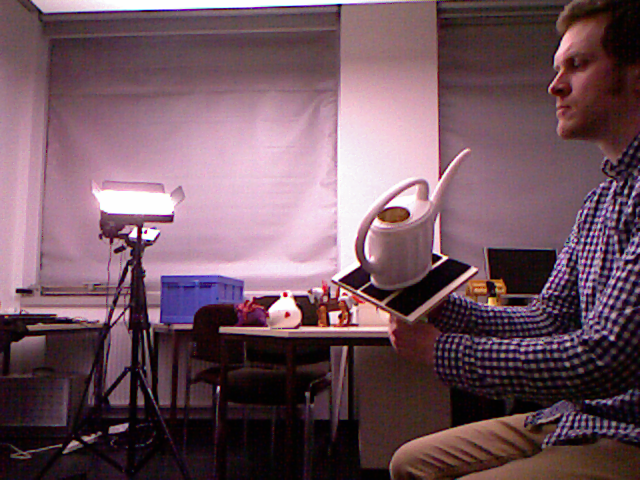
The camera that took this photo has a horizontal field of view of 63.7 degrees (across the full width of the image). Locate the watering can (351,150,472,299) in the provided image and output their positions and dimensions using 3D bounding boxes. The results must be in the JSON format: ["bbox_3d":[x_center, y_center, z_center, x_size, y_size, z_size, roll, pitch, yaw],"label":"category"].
[{"bbox_3d":[0.186,-0.027,0.986,0.353,0.220,0.105,-32,43,-33],"label":"watering can"}]
